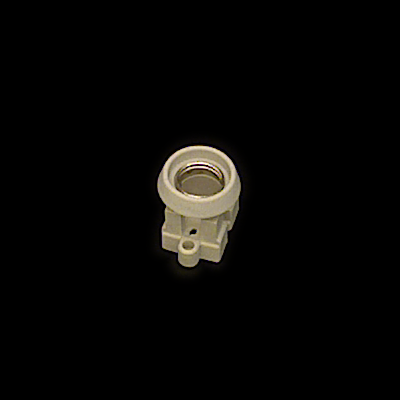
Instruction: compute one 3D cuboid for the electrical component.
[{"bbox_3d":[0.000,0.000,0.638,0.048,0.066,0.056,14,-36,8],"label":"electrical component"}]
